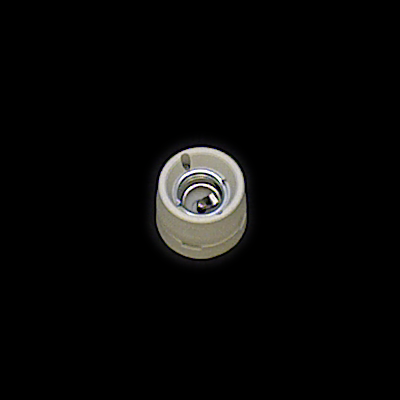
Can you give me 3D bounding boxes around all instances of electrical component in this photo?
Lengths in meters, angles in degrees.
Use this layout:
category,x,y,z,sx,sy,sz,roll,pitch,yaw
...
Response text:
category,x,y,z,sx,sy,sz,roll,pitch,yaw
electrical component,0.000,0.000,0.632,0.055,0.056,0.047,0,-26,0
